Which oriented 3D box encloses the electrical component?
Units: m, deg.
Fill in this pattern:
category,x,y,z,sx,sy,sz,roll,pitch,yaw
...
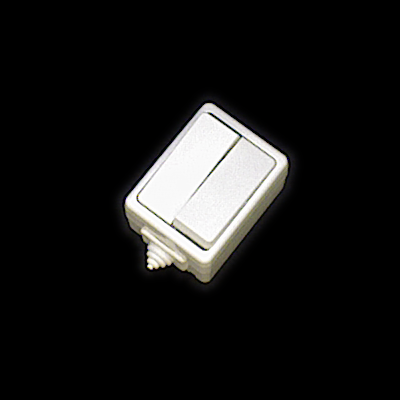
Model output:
category,x,y,z,sx,sy,sz,roll,pitch,yaw
electrical component,0.000,0.000,0.625,0.062,0.097,0.060,37,-14,10
